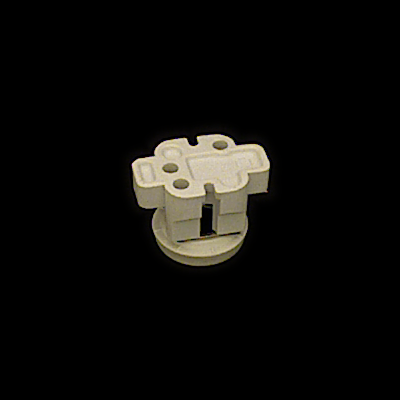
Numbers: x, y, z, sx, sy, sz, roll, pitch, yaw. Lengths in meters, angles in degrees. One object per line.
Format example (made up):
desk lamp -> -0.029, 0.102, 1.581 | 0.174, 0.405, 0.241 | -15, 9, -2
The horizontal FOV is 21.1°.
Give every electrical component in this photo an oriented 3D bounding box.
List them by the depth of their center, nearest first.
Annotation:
electrical component -> 0.000, 0.000, 0.640 | 0.079, 0.057, 0.057 | -8, 42, -12
